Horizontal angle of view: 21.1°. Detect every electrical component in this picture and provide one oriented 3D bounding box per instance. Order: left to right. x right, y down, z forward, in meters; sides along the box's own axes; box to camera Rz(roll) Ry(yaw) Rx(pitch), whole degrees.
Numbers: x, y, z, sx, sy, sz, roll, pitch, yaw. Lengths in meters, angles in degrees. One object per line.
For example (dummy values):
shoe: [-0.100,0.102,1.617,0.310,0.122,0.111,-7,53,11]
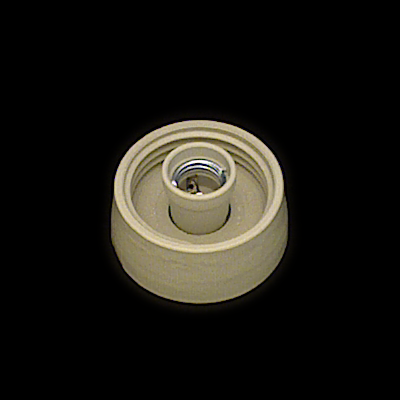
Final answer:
electrical component: [0.000,0.000,0.634,0.108,0.107,0.060,0,-37,-1]
